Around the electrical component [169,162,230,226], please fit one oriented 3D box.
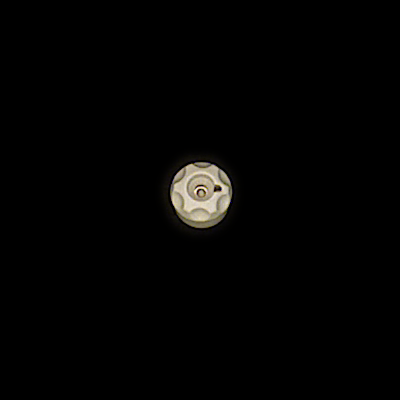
[{"bbox_3d":[0.000,0.000,0.633,0.035,0.035,0.061,0,-15,1],"label":"electrical component"}]
